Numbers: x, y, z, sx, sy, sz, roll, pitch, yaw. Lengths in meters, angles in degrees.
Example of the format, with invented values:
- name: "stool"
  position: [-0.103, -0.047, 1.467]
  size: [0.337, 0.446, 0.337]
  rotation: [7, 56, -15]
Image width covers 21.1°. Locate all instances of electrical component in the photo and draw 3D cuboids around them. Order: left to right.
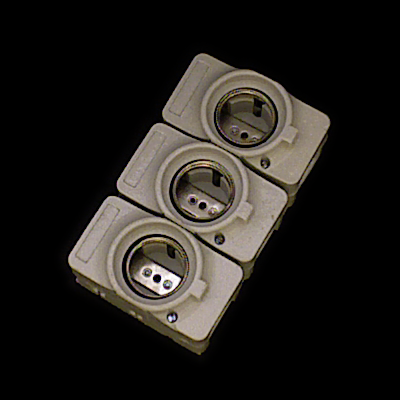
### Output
- name: "electrical component"
  position: [0.000, 0.000, 0.631]
  size: [0.089, 0.150, 0.062]
  rotation: [29, -14, 8]
